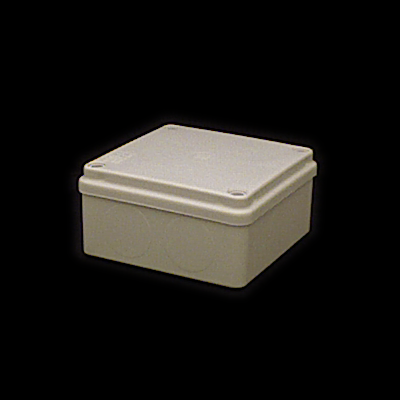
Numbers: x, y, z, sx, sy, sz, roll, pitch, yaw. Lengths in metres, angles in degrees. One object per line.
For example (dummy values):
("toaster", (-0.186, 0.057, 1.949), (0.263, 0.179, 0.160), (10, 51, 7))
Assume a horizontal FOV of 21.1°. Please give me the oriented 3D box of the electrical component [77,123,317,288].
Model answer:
("electrical component", (0.000, 0.000, 0.640), (0.108, 0.057, 0.108), (12, 23, 25))
